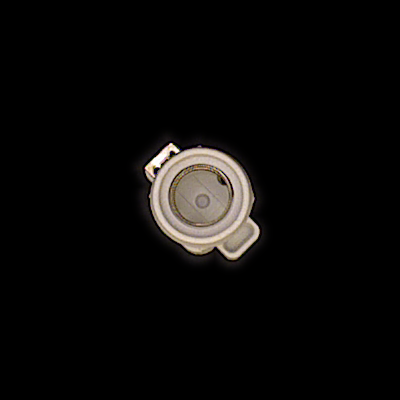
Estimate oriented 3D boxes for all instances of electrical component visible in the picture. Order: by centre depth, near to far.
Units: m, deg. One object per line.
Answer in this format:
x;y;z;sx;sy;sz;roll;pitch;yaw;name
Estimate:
0.000;0.000;0.630;0.058;0.078;0.056;-45;-5;-4;electrical component
